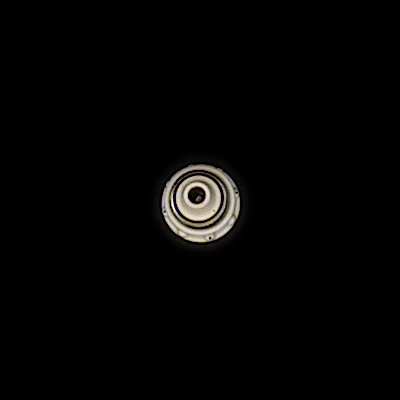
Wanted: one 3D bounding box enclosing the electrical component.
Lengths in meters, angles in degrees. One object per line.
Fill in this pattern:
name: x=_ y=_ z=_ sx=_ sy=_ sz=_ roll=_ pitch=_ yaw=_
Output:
electrical component: x=0.000 y=0.000 z=0.635 sx=0.048 sy=0.048 sz=0.062 roll=0 pitch=-6 yaw=2
